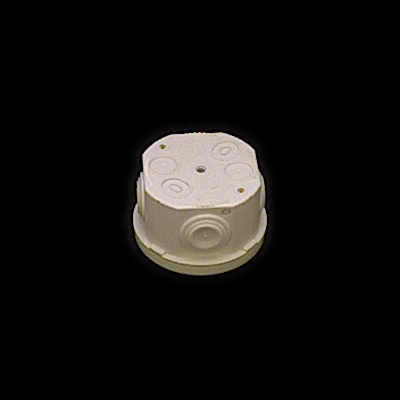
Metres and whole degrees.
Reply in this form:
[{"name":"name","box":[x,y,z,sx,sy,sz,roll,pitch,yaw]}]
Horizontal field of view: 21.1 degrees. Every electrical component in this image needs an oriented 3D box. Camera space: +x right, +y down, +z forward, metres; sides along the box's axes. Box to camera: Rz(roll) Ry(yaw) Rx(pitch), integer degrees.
[{"name":"electrical component","box":[0.000,0.000,0.634,0.080,0.051,0.080,1,42,-1]}]
